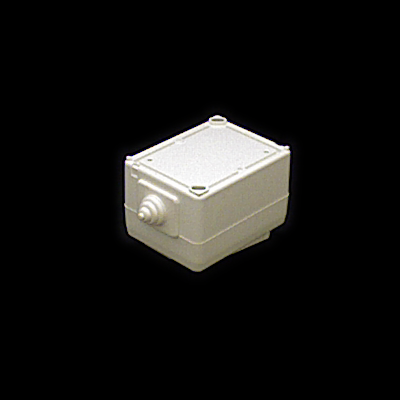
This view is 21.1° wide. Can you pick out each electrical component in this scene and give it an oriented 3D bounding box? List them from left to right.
[{"bbox_3d":[0.000,0.000,0.628,0.061,0.061,0.096,27,40,35],"label":"electrical component"}]
